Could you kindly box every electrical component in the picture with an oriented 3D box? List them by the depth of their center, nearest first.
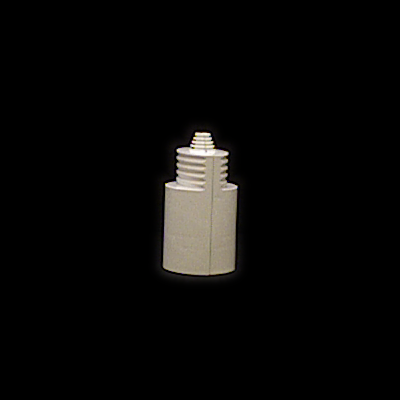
[{"bbox_3d":[0.000,0.000,0.641,0.043,0.081,0.043,1,11,0],"label":"electrical component"}]
